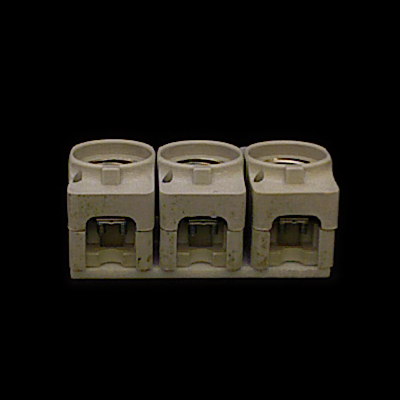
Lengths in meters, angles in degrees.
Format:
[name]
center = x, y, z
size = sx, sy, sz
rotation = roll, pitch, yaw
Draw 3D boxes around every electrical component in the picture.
[electrical component]
center = 0.000, 0.000, 0.644
size = 0.150, 0.063, 0.088
rotation = -1, 21, -3
